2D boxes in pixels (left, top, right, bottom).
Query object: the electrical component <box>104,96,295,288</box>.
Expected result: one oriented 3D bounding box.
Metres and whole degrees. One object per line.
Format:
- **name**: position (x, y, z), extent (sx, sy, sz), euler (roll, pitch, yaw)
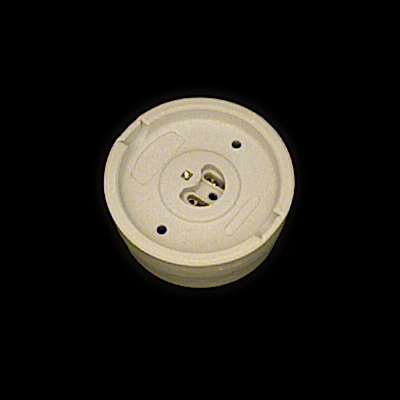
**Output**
- **electrical component**: position (0.000, 0.000, 0.633), extent (0.108, 0.108, 0.060), euler (0, -26, -1)
